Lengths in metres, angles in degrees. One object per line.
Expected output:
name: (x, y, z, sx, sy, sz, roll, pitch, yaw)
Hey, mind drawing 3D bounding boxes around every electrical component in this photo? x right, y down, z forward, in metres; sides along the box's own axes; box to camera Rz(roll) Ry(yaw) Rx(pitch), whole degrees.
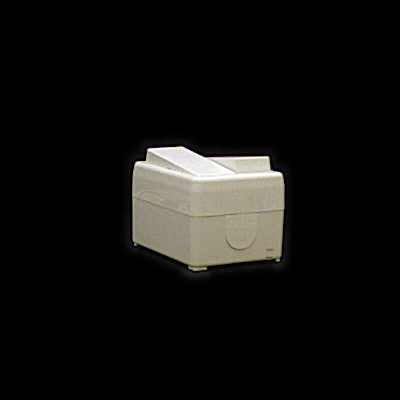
electrical component: (0.000, 0.000, 0.647, 0.062, 0.061, 0.095, -5, 12, -29)
